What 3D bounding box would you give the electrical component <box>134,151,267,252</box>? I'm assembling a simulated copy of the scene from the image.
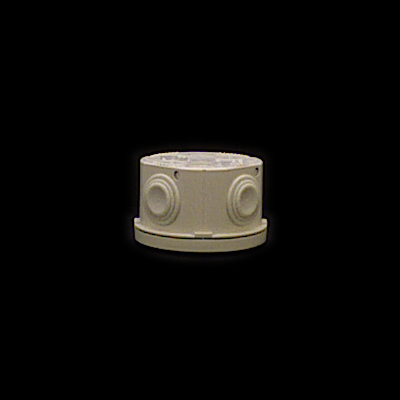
[{"bbox_3d":[0.000,0.000,0.645,0.080,0.051,0.079,1,11,0],"label":"electrical component"}]
